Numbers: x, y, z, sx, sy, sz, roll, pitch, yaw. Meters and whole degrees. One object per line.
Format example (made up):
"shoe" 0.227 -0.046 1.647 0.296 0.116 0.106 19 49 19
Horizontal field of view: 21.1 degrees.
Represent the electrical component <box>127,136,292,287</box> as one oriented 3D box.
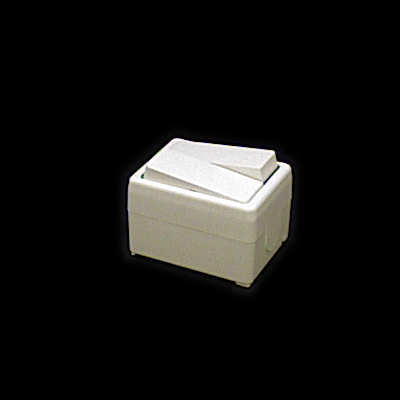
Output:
"electrical component" 0.000 0.000 0.635 0.096 0.061 0.061 15 34 21
